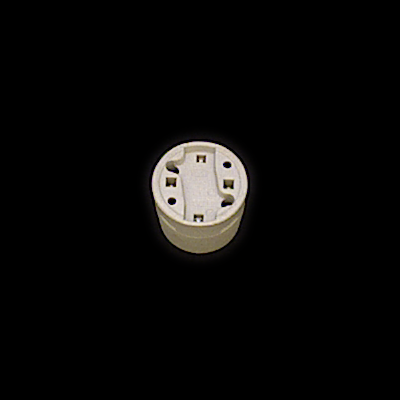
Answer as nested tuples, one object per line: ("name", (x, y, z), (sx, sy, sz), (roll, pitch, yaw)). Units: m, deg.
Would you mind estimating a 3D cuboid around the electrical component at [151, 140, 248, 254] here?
("electrical component", (0.000, 0.000, 0.633), (0.055, 0.056, 0.047), (0, -27, 0))
